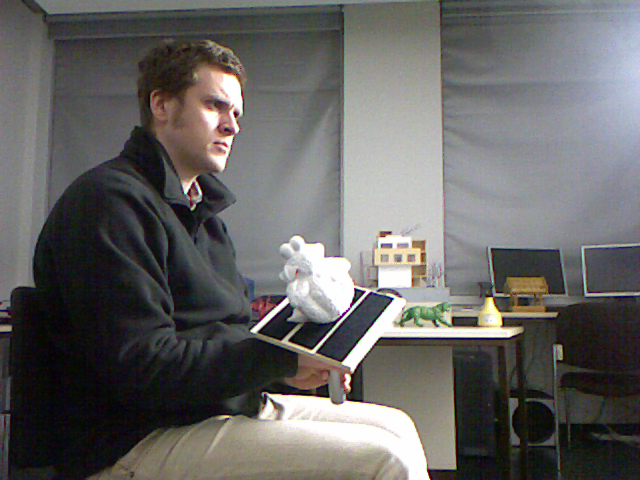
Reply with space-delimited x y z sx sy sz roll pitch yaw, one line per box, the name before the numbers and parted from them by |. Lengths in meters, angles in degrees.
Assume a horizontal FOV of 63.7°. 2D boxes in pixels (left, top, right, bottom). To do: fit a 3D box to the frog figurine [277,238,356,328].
frog figurine | -0.006 0.066 0.879 0.139 0.156 0.125 -23 37 -22
